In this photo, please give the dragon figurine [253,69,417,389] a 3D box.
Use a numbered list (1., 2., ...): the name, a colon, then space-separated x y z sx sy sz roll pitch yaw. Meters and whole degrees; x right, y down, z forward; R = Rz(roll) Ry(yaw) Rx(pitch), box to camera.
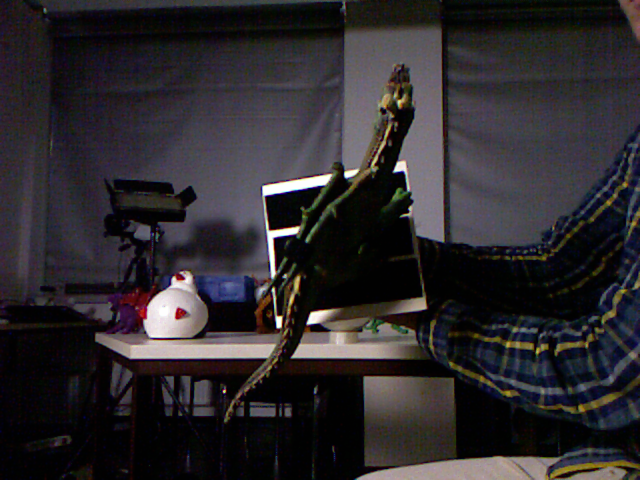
1. dragon figurine: 0.004 0.007 0.571 0.123 0.412 0.242 27 -2 12
